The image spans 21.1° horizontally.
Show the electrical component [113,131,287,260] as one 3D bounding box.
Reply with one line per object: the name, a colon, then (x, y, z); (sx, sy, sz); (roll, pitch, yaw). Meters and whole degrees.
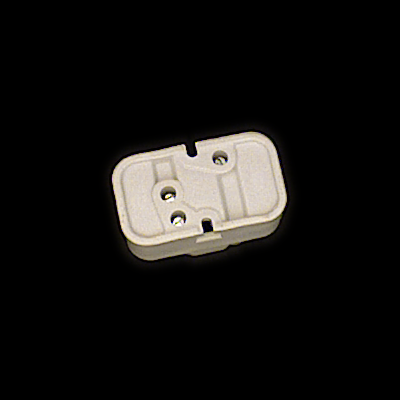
electrical component: (0.000, 0.000, 0.635); (0.095, 0.054, 0.059); (-11, -16, -4)
